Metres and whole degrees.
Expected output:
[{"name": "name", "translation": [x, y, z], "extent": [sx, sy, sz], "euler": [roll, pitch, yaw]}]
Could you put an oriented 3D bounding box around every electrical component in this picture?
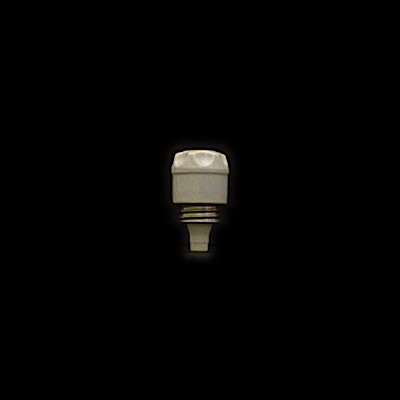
[{"name": "electrical component", "translation": [0.000, 0.000, 0.657], "extent": [0.035, 0.061, 0.035], "euler": [1, 1, 1]}]
